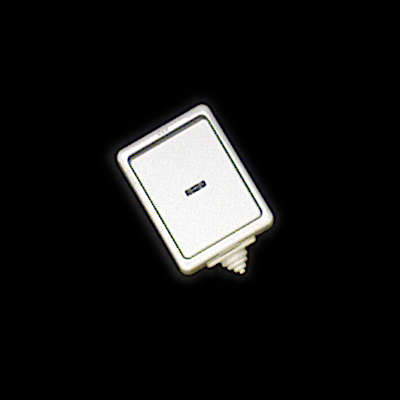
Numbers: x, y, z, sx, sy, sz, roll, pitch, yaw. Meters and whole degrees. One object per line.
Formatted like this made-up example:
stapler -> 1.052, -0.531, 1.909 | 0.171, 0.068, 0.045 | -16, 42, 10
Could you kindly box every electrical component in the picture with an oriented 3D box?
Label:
electrical component -> 0.000, 0.000, 0.626 | 0.062, 0.096, 0.061 | -30, -6, -3
